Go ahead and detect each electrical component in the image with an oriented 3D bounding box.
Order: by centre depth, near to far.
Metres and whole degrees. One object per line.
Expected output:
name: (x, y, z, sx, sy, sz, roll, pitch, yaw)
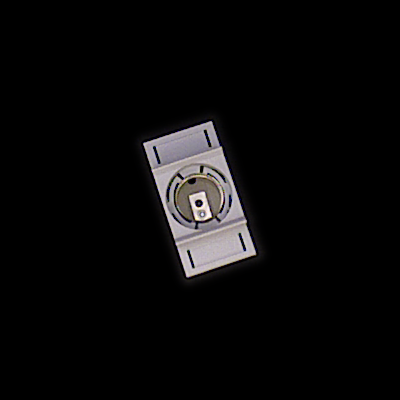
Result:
electrical component: (0.000, 0.000, 0.624, 0.042, 0.081, 0.063, -18, -6, -3)
